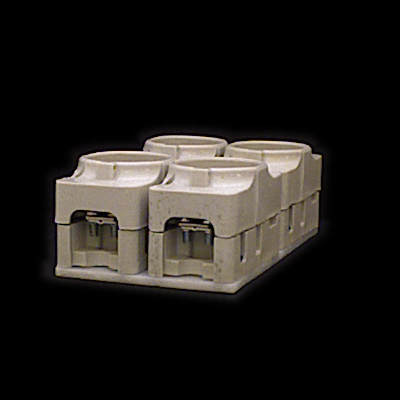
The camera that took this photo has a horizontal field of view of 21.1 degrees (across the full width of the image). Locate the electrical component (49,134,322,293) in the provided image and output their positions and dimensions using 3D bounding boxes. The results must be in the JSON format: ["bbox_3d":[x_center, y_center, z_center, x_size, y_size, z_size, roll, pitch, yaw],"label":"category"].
[{"bbox_3d":[0.000,0.000,0.643,0.105,0.061,0.185,5,11,20],"label":"electrical component"}]
